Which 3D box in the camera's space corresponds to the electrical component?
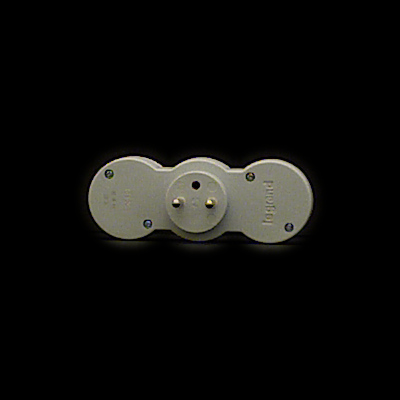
[{"bbox_3d":[0.000,0.000,0.653,0.138,0.052,0.073,1,3,5],"label":"electrical component"}]
